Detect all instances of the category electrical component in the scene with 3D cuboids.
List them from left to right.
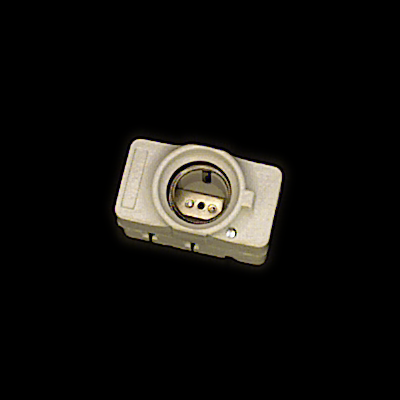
[{"bbox_3d":[0.000,0.000,0.636,0.089,0.050,0.055,11,-16,3],"label":"electrical component"}]
